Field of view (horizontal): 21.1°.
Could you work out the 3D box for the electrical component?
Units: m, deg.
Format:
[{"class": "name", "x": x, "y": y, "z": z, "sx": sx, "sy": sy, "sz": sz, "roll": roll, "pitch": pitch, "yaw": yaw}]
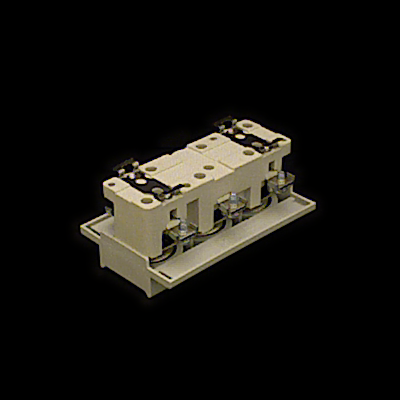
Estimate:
[{"class": "electrical component", "x": 0.000, "y": 0.000, "z": 0.642, "sx": 0.122, "sy": 0.064, "sz": 0.077, "roll": -26, "pitch": 41, "yaw": -37}]
